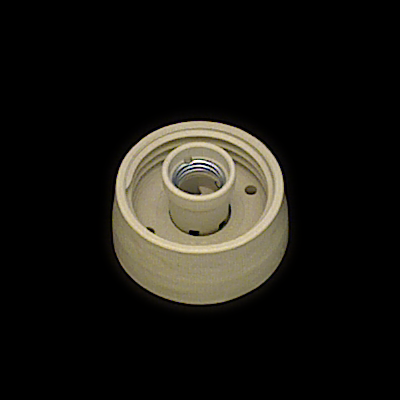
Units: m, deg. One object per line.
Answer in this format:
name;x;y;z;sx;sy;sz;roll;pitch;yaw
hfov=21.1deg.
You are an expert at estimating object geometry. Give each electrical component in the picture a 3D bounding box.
electrical component;0.000;0.000;0.635;0.108;0.107;0.060;0;-37;0
